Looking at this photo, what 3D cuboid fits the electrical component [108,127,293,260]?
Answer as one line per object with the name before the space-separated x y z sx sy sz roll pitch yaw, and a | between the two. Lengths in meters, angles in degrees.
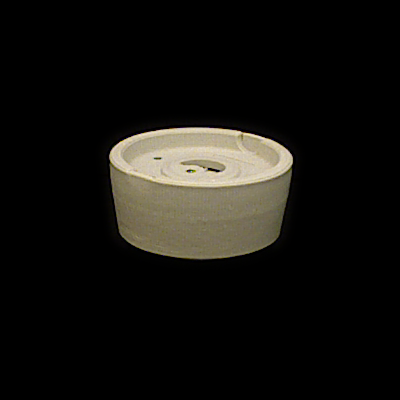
electrical component | 0.000 0.000 0.642 0.108 0.061 0.106 2 21 0
